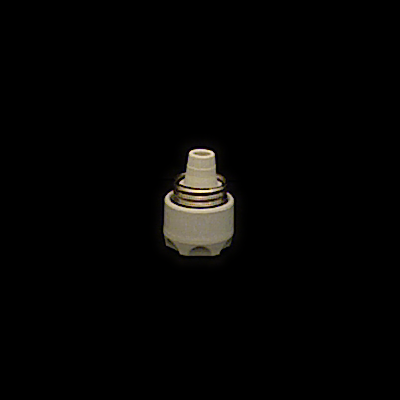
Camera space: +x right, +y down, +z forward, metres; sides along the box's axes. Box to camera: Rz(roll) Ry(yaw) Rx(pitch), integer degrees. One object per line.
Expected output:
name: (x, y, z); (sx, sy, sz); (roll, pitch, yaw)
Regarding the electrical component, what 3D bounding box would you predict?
electrical component: (0.000, 0.000, 0.646); (0.043, 0.063, 0.043); (2, 22, 0)
